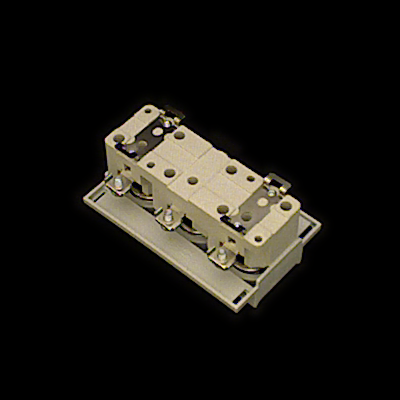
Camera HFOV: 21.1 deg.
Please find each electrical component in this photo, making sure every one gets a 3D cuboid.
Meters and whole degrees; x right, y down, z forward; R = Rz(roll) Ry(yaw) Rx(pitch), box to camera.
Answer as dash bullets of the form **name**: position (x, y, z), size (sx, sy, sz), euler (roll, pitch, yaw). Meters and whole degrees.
- **electrical component**: position (0.000, 0.000, 0.637), size (0.120, 0.063, 0.079), euler (35, 60, 23)
